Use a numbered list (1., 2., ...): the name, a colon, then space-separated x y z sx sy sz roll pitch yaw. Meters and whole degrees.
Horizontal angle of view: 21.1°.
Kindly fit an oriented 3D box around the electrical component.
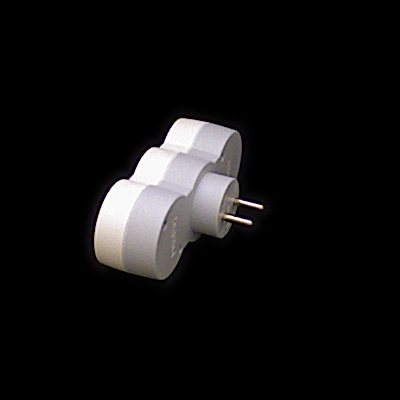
1. electrical component: 0.000 0.000 0.639 0.073 0.053 0.137 14 33 17
